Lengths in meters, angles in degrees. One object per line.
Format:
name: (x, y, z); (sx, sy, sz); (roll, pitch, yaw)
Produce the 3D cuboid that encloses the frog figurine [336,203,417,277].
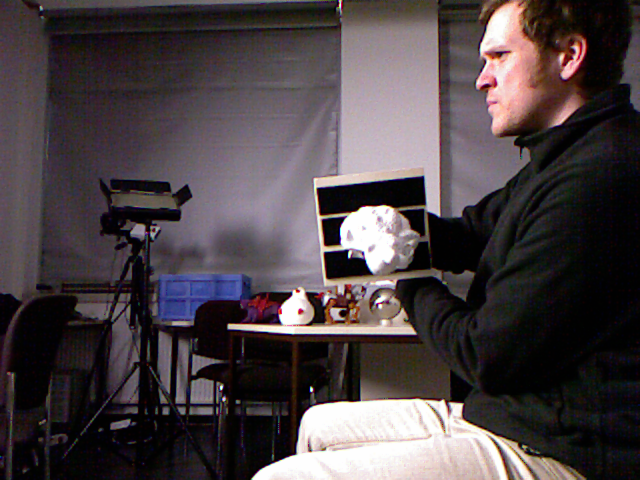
frog figurine: (0.100, -0.004, 0.885); (0.138, 0.123, 0.161); (14, 3, -4)
